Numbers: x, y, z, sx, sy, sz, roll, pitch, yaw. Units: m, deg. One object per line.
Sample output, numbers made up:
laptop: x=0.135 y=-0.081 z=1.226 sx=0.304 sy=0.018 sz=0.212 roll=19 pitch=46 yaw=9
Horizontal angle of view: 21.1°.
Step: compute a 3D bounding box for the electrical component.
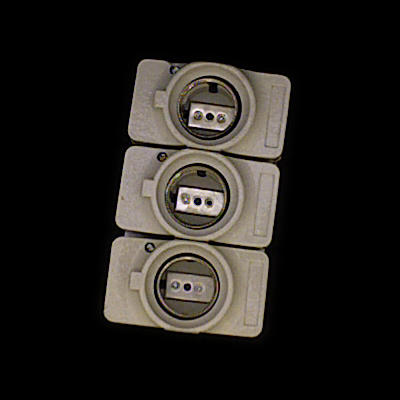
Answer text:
electrical component: x=0.000 y=0.000 z=0.632 sx=0.089 sy=0.150 sz=0.061 roll=7 pitch=-7 yaw=1
